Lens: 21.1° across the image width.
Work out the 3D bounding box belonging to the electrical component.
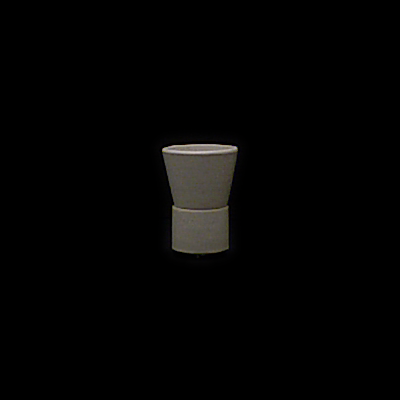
[{"bbox_3d":[0.000,0.000,0.643,0.044,0.066,0.044,0,11,0],"label":"electrical component"}]
